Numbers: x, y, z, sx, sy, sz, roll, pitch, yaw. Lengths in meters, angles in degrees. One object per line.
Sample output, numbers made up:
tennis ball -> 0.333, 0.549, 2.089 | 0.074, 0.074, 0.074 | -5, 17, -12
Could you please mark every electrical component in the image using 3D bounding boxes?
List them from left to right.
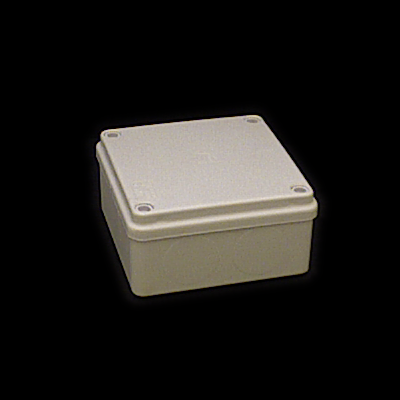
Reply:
electrical component -> 0.000, 0.000, 0.637 | 0.109, 0.057, 0.107 | -7, 32, -14
